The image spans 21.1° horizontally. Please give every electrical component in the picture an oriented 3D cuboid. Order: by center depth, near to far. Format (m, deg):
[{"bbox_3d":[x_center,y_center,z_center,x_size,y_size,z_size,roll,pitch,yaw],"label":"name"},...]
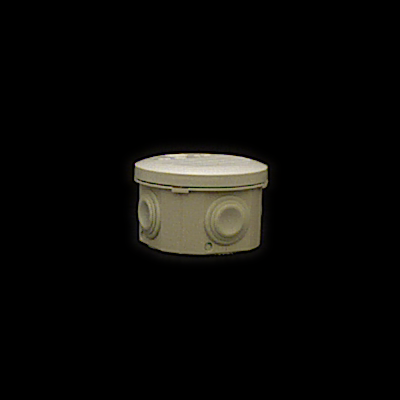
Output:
[{"bbox_3d":[0.000,0.000,0.647,0.080,0.051,0.079,1,11,0],"label":"electrical component"}]
